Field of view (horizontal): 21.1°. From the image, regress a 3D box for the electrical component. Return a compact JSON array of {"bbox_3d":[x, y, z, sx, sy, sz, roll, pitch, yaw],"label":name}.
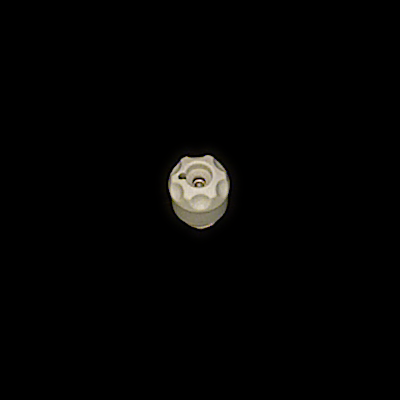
[{"bbox_3d":[0.000,0.000,0.634,0.035,0.035,0.061,0,-27,1],"label":"electrical component"}]
